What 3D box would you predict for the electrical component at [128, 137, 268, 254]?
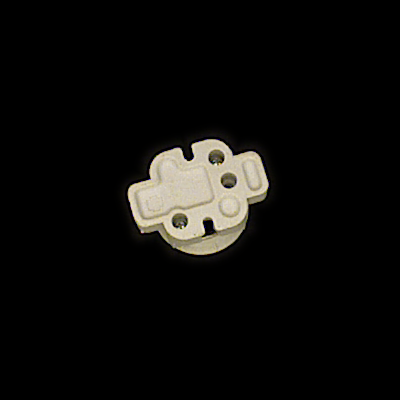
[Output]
[{"bbox_3d":[0.000,0.000,0.635,0.079,0.058,0.056,-17,-15,-3],"label":"electrical component"}]
